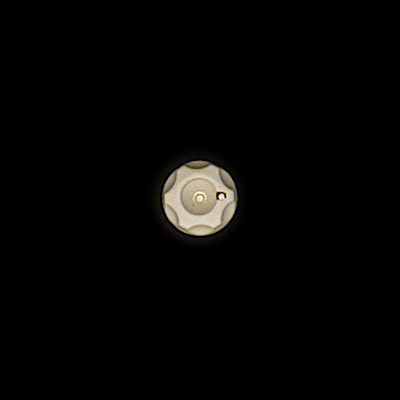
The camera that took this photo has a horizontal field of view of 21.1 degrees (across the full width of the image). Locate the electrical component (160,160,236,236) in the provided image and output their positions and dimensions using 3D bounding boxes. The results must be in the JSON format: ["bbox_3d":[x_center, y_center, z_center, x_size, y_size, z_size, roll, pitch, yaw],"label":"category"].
[{"bbox_3d":[0.000,0.000,0.635,0.043,0.043,0.062,0,-5,2],"label":"electrical component"}]
